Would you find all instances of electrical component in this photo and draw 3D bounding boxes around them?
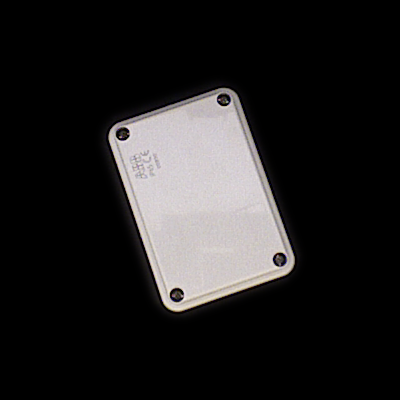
[{"bbox_3d":[0.000,0.000,0.627,0.078,0.113,0.057,-19,-6,-2],"label":"electrical component"}]
